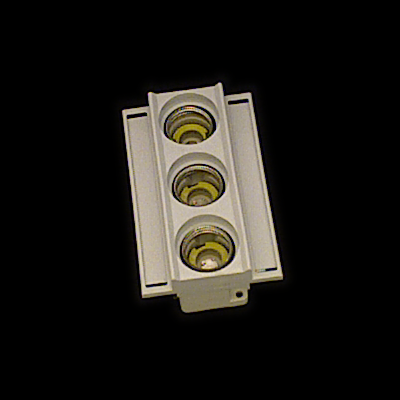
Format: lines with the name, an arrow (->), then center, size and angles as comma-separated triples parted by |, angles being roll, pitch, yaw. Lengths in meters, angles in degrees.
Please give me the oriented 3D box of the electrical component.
electrical component -> 0.000, 0.000, 0.637 | 0.079, 0.121, 0.063 | -7, -26, -2
